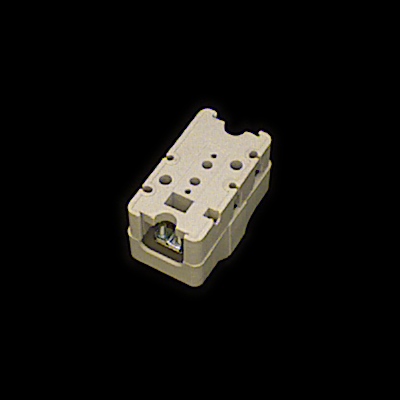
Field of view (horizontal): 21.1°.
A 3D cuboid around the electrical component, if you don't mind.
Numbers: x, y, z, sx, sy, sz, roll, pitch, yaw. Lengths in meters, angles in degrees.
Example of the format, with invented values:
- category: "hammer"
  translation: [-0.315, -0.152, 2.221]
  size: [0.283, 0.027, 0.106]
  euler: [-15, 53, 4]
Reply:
- category: "electrical component"
  translation: [0.000, 0.000, 0.637]
  size: [0.050, 0.090, 0.056]
  euler: [25, -33, 17]
